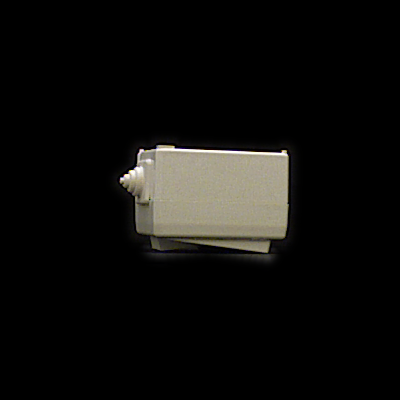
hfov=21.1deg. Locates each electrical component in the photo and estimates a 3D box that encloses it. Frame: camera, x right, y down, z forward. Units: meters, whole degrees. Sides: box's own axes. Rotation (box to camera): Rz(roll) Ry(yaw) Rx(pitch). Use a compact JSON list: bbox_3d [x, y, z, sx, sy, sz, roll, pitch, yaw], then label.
[{"bbox_3d":[-0.001,0.000,0.645,0.096,0.061,0.061,2,1,-15],"label":"electrical component"}]
